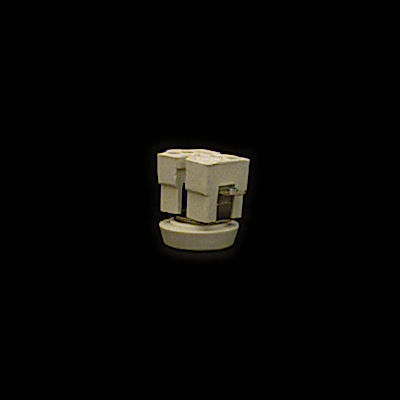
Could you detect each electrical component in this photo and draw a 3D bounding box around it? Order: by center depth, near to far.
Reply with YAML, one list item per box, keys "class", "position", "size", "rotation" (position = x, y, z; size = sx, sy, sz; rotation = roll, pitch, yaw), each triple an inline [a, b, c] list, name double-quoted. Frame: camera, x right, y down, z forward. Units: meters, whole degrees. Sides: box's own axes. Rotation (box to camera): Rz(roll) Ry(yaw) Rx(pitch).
- class: "electrical component"
  position: [0.000, 0.000, 0.651]
  size: [0.049, 0.056, 0.065]
  rotation: [-9, 16, -43]
